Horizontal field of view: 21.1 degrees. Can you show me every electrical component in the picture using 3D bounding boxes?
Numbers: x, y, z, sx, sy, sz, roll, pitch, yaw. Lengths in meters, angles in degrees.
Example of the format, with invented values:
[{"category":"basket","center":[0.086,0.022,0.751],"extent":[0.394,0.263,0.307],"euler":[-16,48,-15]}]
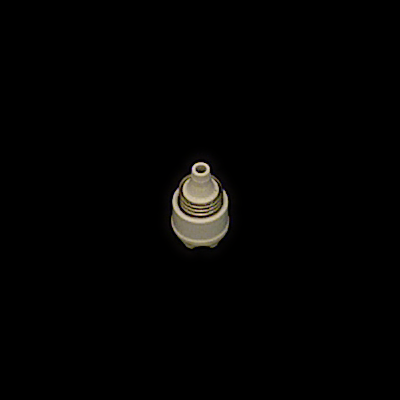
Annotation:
[{"category":"electrical component","center":[0.000,0.000,0.639],"extent":[0.035,0.035,0.062],"euler":[0,-38,-1]}]
